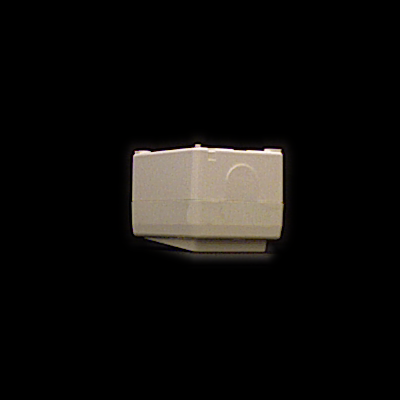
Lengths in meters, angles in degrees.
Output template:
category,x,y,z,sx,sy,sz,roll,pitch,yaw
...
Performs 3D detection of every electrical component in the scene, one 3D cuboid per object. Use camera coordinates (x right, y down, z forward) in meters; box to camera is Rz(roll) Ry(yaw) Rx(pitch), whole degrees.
category,x,y,z,sx,sy,sz,roll,pitch,yaw
electrical component,0.000,0.000,0.652,0.062,0.061,0.096,1,0,-31
